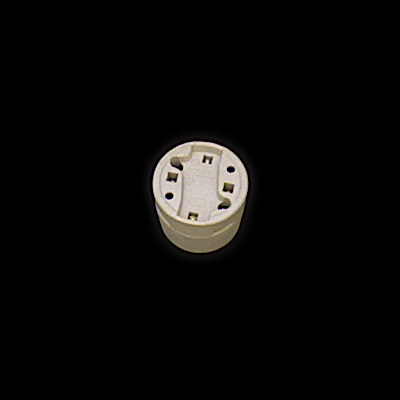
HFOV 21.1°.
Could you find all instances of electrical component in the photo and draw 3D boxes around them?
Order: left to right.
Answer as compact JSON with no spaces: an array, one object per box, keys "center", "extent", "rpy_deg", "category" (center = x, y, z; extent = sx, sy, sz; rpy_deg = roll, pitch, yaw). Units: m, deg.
[{"center":[0.000,0.000,0.634],"extent":[0.055,0.056,0.047],"rpy_deg":[0,-27,0],"category":"electrical component"}]
